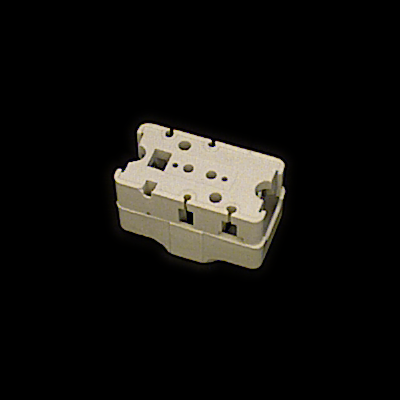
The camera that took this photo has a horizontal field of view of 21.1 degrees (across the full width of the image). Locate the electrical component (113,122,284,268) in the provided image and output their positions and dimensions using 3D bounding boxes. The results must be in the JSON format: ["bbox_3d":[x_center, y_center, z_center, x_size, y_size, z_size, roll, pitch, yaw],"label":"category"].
[{"bbox_3d":[0.000,0.000,0.637,0.089,0.050,0.056,16,-35,12],"label":"electrical component"}]
